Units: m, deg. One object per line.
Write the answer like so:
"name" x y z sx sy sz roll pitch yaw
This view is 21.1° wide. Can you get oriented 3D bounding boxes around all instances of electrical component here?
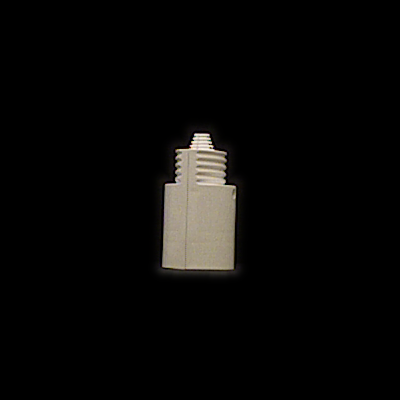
"electrical component" 0.000 0.000 0.649 0.043 0.081 0.043 1 1 0
